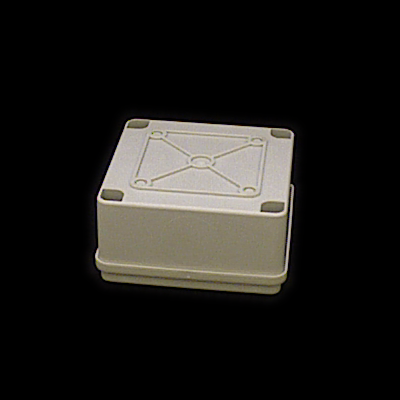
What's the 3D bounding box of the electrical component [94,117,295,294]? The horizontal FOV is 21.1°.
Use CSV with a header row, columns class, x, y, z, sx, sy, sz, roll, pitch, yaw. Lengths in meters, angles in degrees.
class,x,y,z,sx,sy,sz,roll,pitch,yaw
electrical component,0.000,0.000,0.637,0.109,0.057,0.107,5,31,5
